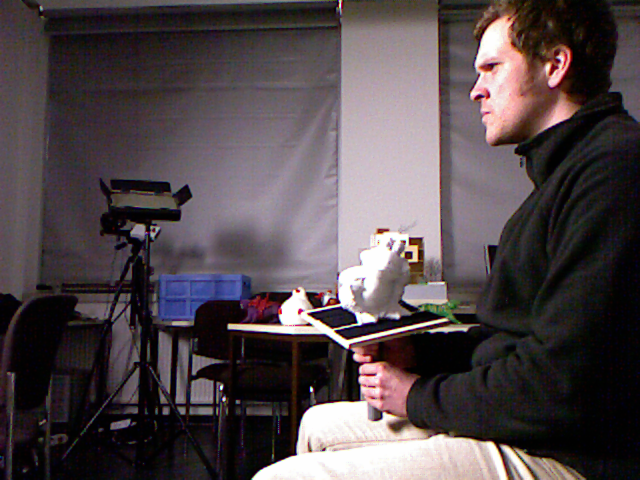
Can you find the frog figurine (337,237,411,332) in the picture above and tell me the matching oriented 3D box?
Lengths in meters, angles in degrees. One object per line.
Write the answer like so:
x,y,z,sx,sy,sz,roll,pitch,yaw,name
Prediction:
0.099,0.069,0.936,0.137,0.158,0.124,-2,12,-6,frog figurine
